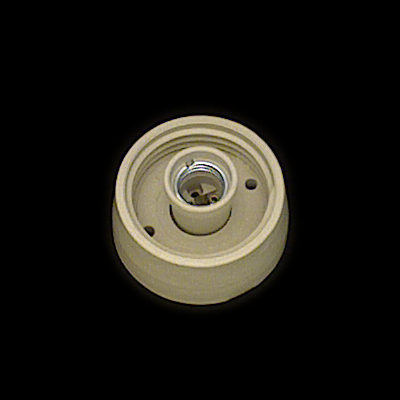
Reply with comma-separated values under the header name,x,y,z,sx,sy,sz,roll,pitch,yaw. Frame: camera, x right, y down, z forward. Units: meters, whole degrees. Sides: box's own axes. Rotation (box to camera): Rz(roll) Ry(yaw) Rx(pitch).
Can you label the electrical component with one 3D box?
name,x,y,z,sx,sy,sz,roll,pitch,yaw
electrical component,0.000,0.000,0.633,0.108,0.108,0.060,0,-27,0
